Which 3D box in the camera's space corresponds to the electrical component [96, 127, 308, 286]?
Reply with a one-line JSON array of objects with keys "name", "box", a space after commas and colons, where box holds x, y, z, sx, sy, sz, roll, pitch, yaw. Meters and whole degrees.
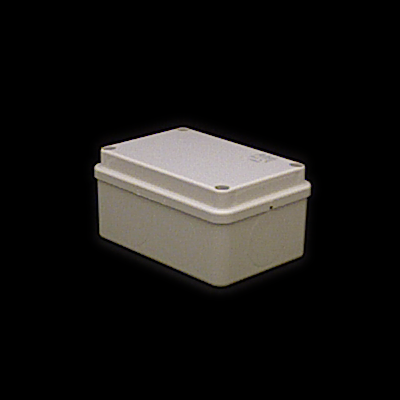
[{"name": "electrical component", "box": [0.000, 0.000, 0.640, 0.078, 0.058, 0.112, -18, 28, -41]}]
